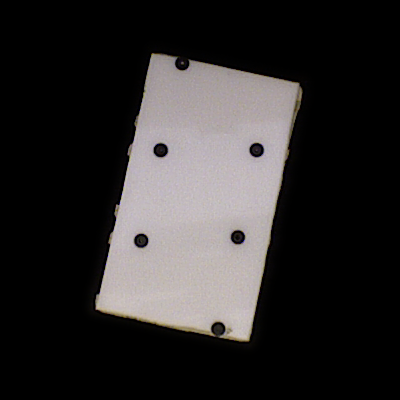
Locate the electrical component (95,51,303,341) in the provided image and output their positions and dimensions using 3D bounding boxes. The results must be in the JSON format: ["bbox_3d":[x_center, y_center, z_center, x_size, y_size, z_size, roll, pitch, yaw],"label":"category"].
[{"bbox_3d":[0.000,0.000,0.631,0.089,0.150,0.061,12,-6,1],"label":"electrical component"}]
